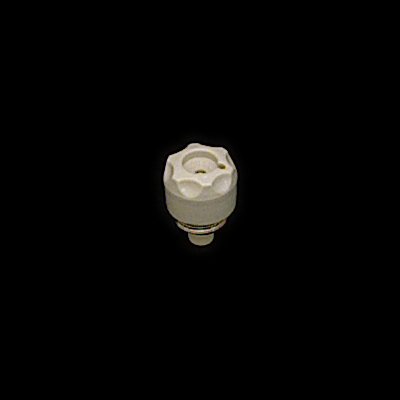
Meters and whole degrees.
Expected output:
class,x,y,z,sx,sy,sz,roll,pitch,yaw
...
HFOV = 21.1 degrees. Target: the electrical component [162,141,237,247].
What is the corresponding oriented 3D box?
class,x,y,z,sx,sy,sz,roll,pitch,yaw
electrical component,0.000,0.000,0.638,0.043,0.062,0.043,0,43,1
